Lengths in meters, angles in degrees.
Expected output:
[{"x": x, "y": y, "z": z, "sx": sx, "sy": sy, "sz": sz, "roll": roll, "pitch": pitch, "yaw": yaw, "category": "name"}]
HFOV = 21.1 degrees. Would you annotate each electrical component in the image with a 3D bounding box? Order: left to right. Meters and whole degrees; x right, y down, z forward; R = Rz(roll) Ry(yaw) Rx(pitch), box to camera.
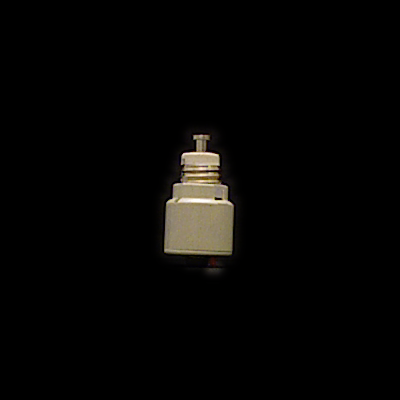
[{"x": 0.000, "y": 0.000, "z": 0.648, "sx": 0.040, "sy": 0.078, "sz": 0.040, "roll": 2, "pitch": 0, "yaw": 0, "category": "electrical component"}]
